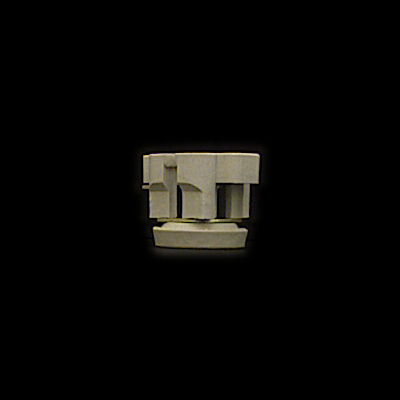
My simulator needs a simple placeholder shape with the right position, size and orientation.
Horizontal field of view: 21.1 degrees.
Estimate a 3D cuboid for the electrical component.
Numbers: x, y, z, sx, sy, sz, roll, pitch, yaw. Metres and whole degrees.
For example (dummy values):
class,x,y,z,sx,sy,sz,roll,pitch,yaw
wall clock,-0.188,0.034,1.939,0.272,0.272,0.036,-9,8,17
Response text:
class,x,y,z,sx,sy,sz,roll,pitch,yaw
electrical component,0.000,0.000,0.656,0.077,0.057,0.058,0,1,40
